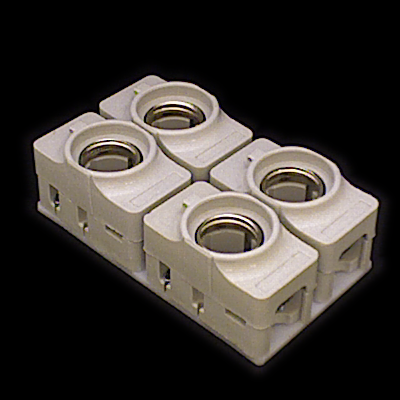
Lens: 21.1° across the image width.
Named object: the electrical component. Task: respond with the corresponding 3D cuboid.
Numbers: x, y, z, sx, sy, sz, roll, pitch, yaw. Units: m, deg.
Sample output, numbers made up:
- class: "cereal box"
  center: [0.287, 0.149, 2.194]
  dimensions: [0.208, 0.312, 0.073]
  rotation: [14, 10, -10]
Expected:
- class: "electrical component"
  center: [0.000, 0.000, 0.629]
  dimensions: [0.185, 0.061, 0.105]
  rotation: [32, 51, 30]
